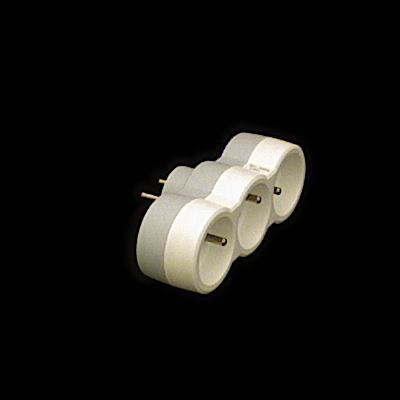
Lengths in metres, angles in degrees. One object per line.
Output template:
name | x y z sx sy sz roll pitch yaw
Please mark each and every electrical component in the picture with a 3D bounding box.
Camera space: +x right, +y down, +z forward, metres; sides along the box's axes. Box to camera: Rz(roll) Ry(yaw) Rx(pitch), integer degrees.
electrical component | 0.000 0.000 0.646 0.073 0.053 0.138 17 35 27
